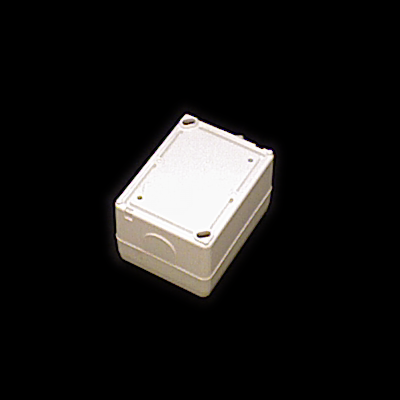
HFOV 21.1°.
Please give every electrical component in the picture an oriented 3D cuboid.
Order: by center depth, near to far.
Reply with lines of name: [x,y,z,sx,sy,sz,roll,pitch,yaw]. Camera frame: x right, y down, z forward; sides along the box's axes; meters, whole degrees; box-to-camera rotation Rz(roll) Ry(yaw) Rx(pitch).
electrical component: [0.000,0.000,0.629,0.061,0.096,0.061,24,-35,18]
